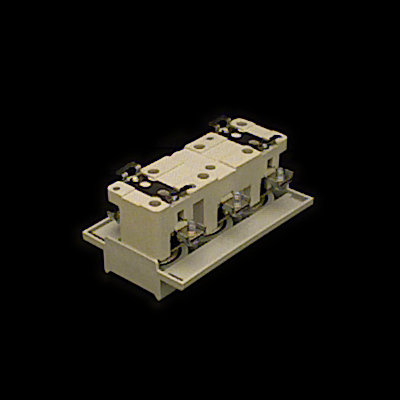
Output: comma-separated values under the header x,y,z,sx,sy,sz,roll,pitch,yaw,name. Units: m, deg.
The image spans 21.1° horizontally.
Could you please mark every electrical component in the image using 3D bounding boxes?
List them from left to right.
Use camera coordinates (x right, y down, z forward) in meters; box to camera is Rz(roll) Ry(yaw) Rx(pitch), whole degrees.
x,y,z,sx,sy,sz,roll,pitch,yaw,name
0.000,0.000,0.642,0.077,0.064,0.121,25,39,34,electrical component
